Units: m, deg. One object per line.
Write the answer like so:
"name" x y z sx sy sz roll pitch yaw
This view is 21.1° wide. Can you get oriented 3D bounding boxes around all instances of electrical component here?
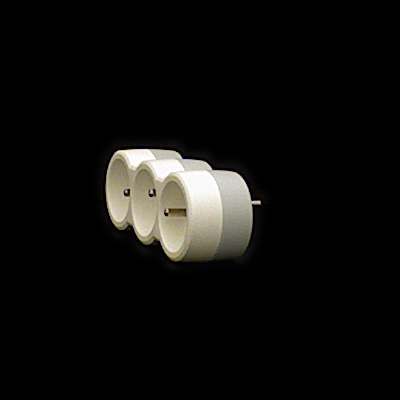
"electrical component" 0.000 0.000 0.652 0.074 0.052 0.136 -3 12 -25
